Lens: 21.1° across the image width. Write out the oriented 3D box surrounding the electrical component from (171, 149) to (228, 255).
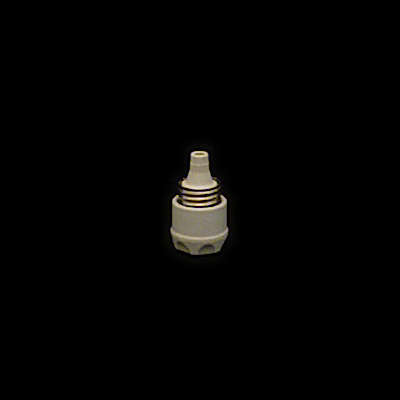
[{"bbox_3d":[0.000,0.000,0.650,0.035,0.062,0.035,0,20,0],"label":"electrical component"}]
